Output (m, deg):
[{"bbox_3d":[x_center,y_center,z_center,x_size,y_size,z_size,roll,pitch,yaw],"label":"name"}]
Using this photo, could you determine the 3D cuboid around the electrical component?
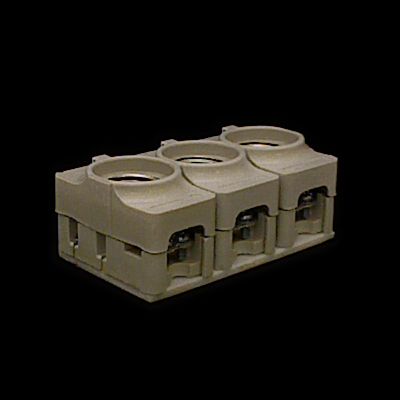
[{"bbox_3d":[0.000,0.000,0.646,0.149,0.063,0.088,-16,26,-40],"label":"electrical component"}]
